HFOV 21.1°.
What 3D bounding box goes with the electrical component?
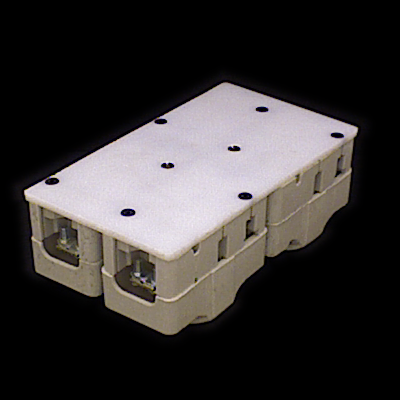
[{"bbox_3d":[0.000,0.000,0.633,0.105,0.061,0.185,23,37,31],"label":"electrical component"}]
